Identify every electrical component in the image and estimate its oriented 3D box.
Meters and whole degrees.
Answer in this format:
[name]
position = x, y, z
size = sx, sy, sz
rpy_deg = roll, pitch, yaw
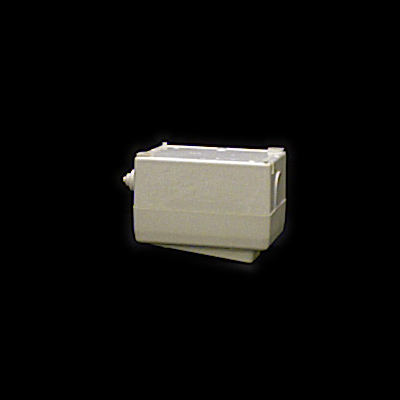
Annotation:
[electrical component]
position = 0.000, 0.000, 0.643
size = 0.096, 0.061, 0.061
rpy_deg = 4, 11, 12
